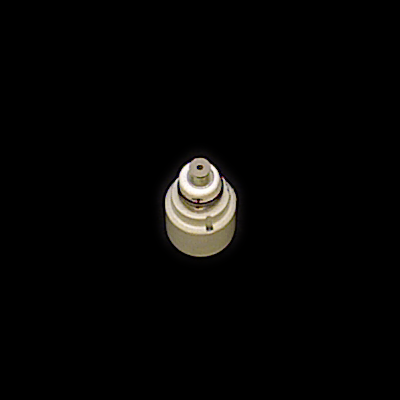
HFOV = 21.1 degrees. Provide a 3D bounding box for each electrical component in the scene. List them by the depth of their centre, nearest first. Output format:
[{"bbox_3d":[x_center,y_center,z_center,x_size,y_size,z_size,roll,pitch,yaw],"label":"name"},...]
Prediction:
[{"bbox_3d":[0.000,0.000,0.617,0.040,0.040,0.078,0,-28,1],"label":"electrical component"}]
